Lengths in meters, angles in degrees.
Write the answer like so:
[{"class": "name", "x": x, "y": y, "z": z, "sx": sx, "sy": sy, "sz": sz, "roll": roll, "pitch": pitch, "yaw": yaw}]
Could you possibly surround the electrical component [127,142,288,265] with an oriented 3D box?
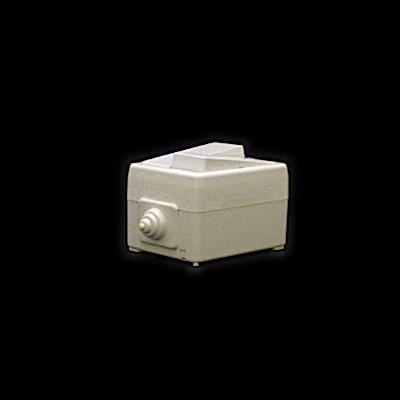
[{"class": "electrical component", "x": 0.000, "y": 0.000, "z": 0.643, "sx": 0.096, "sy": 0.061, "sz": 0.061, "roll": -8, "pitch": 14, "yaw": -44}]
